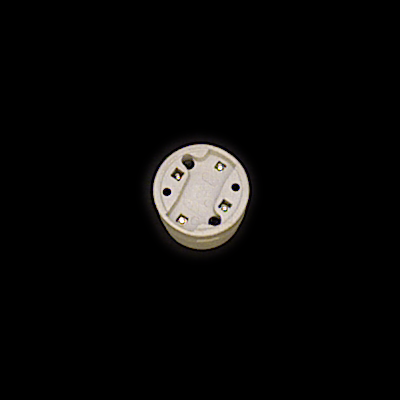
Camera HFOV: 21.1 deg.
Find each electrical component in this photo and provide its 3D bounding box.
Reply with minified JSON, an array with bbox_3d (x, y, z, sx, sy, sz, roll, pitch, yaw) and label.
[{"bbox_3d":[0.000,0.000,0.634,0.055,0.056,0.047,0,-17,0],"label":"electrical component"}]
